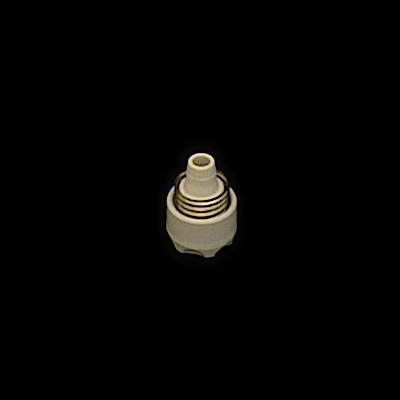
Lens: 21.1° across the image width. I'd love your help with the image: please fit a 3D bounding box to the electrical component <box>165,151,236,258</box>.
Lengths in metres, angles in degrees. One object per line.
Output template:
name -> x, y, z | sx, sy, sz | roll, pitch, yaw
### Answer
electrical component -> 0.000, 0.000, 0.638 | 0.043, 0.062, 0.043 | 0, 41, 0
